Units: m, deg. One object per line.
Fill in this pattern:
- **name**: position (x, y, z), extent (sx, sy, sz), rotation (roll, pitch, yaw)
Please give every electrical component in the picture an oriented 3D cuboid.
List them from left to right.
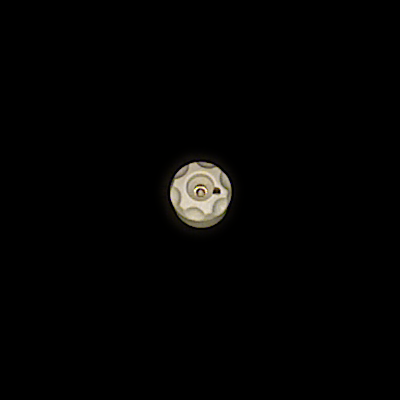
- **electrical component**: position (0.000, 0.000, 0.633), extent (0.035, 0.035, 0.061), rotation (0, -15, 1)
